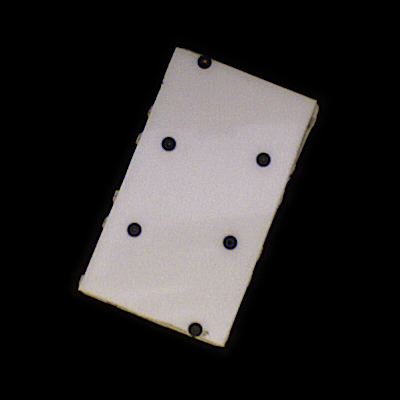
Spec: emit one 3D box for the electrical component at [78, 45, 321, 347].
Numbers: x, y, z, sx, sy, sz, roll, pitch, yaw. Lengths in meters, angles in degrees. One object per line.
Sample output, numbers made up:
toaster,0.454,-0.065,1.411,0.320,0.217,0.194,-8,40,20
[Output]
electrical component,0.000,0.000,0.631,0.089,0.150,0.061,22,-6,2
